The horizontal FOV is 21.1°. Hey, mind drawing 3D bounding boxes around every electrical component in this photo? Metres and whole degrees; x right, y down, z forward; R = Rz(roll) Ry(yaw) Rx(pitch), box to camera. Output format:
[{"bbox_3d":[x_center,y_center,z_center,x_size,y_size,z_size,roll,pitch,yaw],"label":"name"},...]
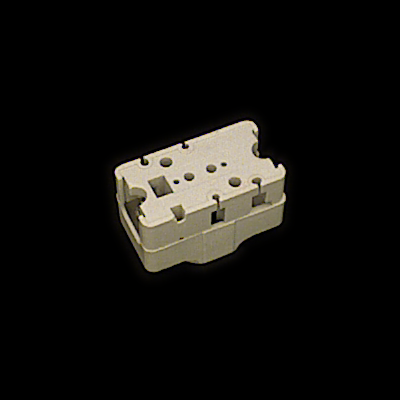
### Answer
[{"bbox_3d":[0.000,0.000,0.637,0.090,0.050,0.056,-21,-34,-15],"label":"electrical component"}]
